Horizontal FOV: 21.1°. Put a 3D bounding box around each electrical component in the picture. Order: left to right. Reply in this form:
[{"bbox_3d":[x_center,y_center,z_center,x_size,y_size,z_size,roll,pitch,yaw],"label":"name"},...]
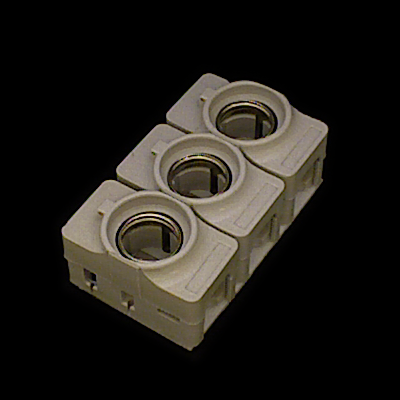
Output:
[{"bbox_3d":[0.000,0.000,0.634,0.089,0.149,0.062,27,-34,20],"label":"electrical component"}]
